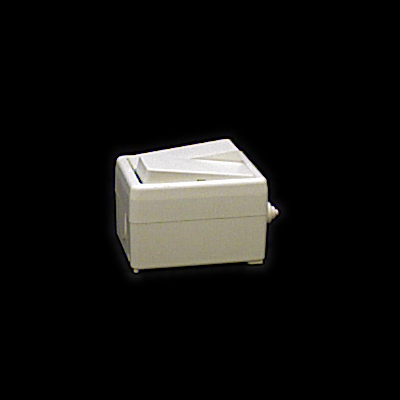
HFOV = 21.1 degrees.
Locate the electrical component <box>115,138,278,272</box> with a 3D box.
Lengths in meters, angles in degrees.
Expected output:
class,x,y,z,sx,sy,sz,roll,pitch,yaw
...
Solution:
class,x,y,z,sx,sy,sz,roll,pitch,yaw
electrical component,0.000,0.000,0.640,0.096,0.061,0.061,-4,21,-12
